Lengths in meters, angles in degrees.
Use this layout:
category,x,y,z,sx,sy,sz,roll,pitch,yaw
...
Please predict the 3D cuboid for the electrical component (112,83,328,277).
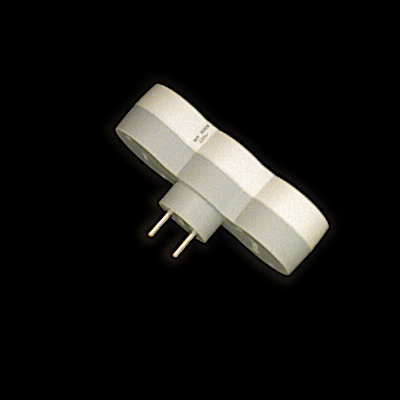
category,x,y,z,sx,sy,sz,roll,pitch,yaw
electrical component,0.000,0.000,0.637,0.138,0.074,0.052,40,-11,10
